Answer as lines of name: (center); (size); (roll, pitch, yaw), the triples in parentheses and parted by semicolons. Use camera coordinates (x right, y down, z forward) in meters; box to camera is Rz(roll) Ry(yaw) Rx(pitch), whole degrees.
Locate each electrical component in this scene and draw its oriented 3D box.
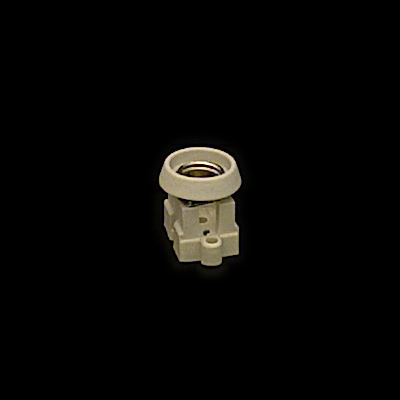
electrical component: (0.000, 0.000, 0.643); (0.049, 0.056, 0.065); (-7, 33, -15)
